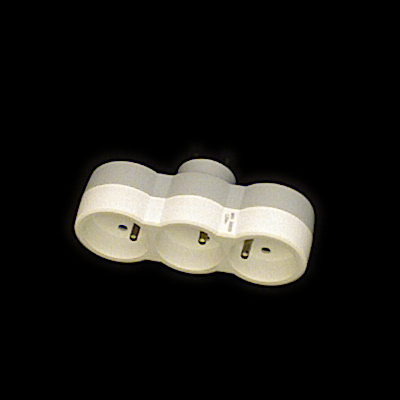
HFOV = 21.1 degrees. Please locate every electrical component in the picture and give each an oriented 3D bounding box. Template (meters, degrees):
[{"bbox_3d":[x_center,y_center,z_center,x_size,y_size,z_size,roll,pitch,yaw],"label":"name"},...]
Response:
[{"bbox_3d":[0.000,0.000,0.641,0.138,0.073,0.052,9,-38,6],"label":"electrical component"}]
